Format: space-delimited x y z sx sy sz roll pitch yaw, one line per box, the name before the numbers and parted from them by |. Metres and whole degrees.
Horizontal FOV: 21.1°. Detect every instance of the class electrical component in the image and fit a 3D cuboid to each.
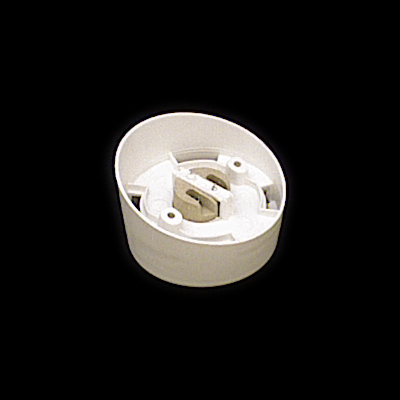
electrical component | 0.000 0.000 0.629 0.099 0.065 0.098 0 42 0
